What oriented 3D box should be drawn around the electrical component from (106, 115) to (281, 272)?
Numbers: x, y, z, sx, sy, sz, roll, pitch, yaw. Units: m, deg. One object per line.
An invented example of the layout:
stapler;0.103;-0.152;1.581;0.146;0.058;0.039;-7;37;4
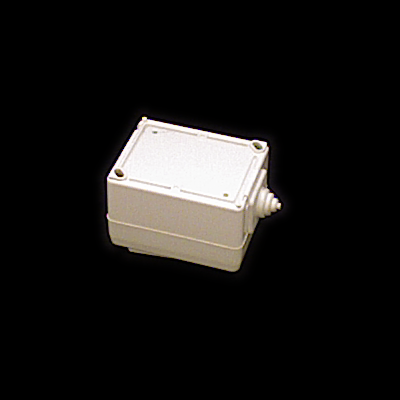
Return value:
electrical component;0.000;0.000;0.629;0.096;0.061;0.061;13;43;12
